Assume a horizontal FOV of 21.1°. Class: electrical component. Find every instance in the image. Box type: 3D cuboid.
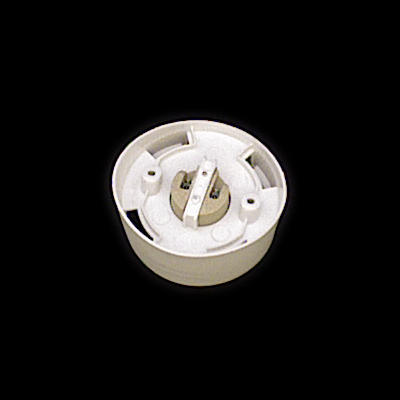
[{"bbox_3d":[0.000,0.000,0.624,0.099,0.099,0.064,0,-27,-1],"label":"electrical component"}]
